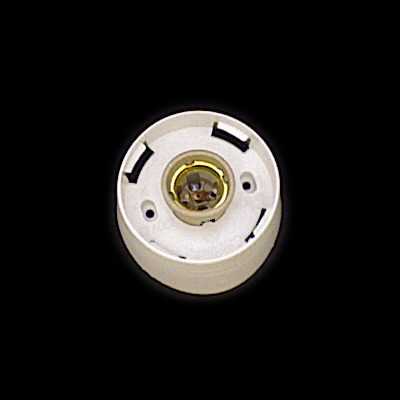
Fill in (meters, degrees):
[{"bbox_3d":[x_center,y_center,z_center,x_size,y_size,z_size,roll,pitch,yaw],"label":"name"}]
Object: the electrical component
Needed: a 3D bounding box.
[{"bbox_3d":[0.000,0.000,0.625,0.099,0.099,0.064,0,-16,0],"label":"electrical component"}]
